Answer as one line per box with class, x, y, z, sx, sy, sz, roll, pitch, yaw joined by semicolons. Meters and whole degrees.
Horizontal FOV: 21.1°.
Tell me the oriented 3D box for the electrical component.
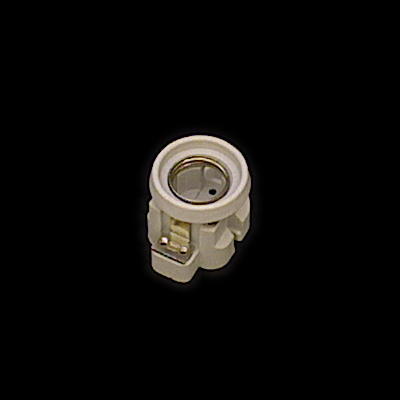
electrical component;0.000;0.000;0.628;0.057;0.078;0.057;23;-34;16
